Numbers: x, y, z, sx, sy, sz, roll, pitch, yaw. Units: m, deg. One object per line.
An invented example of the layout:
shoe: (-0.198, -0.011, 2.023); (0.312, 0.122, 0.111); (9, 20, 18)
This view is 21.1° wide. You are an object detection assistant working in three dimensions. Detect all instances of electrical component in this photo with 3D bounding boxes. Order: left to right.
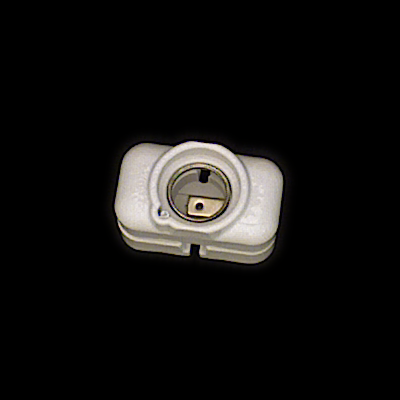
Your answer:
electrical component: (0.000, 0.000, 0.634); (0.095, 0.054, 0.059); (7, -16, 2)
